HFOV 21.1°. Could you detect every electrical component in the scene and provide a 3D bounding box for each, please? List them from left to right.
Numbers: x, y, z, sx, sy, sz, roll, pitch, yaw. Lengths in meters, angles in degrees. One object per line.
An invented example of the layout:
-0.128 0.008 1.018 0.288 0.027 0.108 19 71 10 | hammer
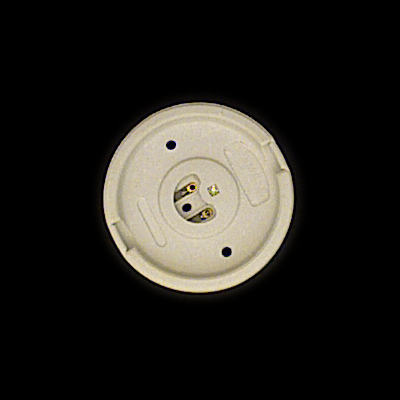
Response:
0.000 0.000 0.635 0.108 0.108 0.060 0 -6 0 | electrical component
